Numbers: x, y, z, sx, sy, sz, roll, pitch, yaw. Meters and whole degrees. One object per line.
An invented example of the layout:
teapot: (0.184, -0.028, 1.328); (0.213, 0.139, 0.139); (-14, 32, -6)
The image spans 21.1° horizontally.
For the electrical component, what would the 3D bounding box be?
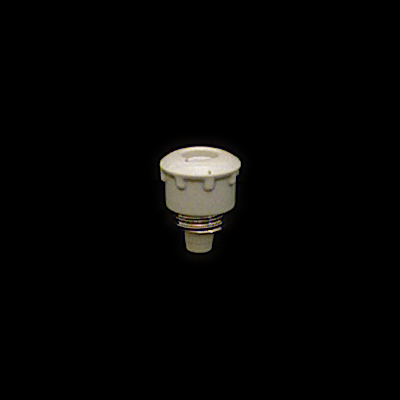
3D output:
electrical component: (0.000, 0.000, 0.644); (0.048, 0.062, 0.047); (1, 22, 0)
